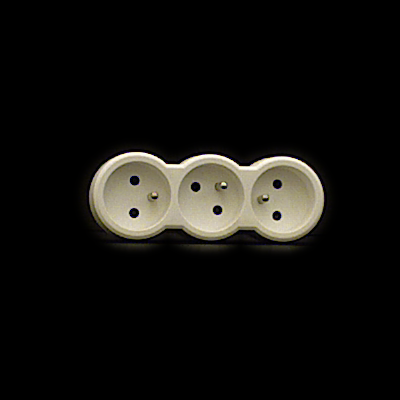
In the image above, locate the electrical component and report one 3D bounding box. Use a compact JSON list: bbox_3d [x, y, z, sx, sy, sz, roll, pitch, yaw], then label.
[{"bbox_3d":[0.000,0.000,0.660,0.139,0.052,0.073,1,0,-11],"label":"electrical component"}]
